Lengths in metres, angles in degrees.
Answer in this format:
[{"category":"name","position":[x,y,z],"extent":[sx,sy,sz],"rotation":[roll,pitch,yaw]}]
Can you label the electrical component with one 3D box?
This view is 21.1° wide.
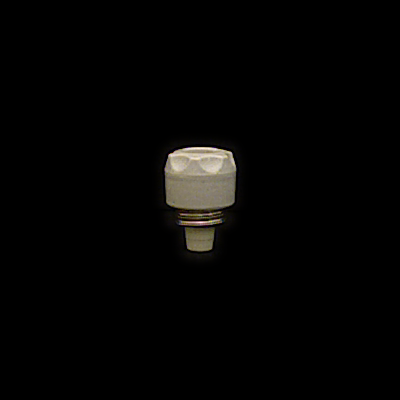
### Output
[{"category":"electrical component","position":[0.000,0.000,0.650],"extent":[0.043,0.062,0.043],"rotation":[1,12,0]}]
